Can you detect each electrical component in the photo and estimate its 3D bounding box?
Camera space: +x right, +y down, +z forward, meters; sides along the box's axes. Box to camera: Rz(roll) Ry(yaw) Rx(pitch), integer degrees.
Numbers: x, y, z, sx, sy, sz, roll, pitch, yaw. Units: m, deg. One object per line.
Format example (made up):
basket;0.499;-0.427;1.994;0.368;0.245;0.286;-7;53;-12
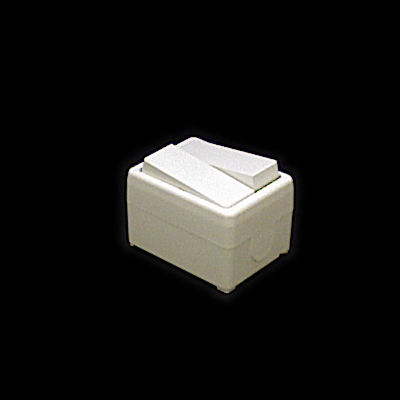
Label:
electrical component;0.000;0.000;0.636;0.095;0.061;0.061;25;39;33
